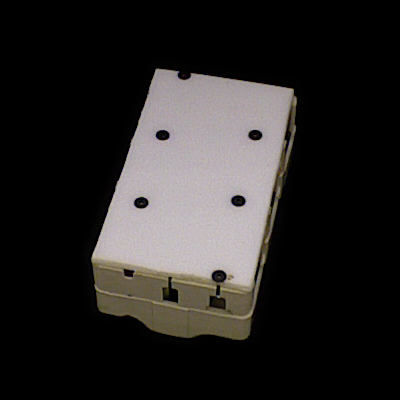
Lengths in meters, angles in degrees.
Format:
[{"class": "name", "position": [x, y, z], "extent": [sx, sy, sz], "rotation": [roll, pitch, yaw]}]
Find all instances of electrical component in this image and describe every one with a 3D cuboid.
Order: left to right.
[{"class": "electrical component", "position": [0.000, 0.000, 0.635], "extent": [0.089, 0.148, 0.063], "rotation": [10, -37, 7]}]
